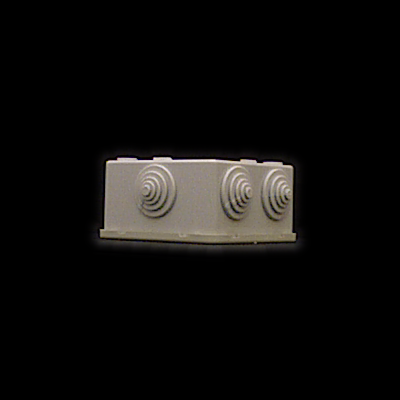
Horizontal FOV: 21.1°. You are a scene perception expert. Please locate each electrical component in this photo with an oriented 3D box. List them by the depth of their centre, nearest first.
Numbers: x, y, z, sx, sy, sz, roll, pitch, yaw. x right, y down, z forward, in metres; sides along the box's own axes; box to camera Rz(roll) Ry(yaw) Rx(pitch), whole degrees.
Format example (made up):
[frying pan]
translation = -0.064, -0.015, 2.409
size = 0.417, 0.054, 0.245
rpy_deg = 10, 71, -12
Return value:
[electrical component]
translation = 0.000, 0.000, 0.651
size = 0.099, 0.048, 0.100
rpy_deg = 2, 0, 38
